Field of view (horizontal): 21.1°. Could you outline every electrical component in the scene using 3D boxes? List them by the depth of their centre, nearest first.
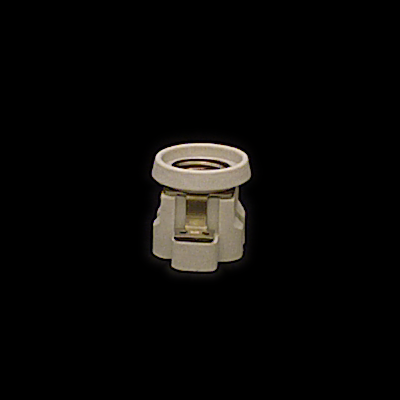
[{"bbox_3d":[0.000,0.000,0.637,0.058,0.057,0.077,3,21,4],"label":"electrical component"}]
